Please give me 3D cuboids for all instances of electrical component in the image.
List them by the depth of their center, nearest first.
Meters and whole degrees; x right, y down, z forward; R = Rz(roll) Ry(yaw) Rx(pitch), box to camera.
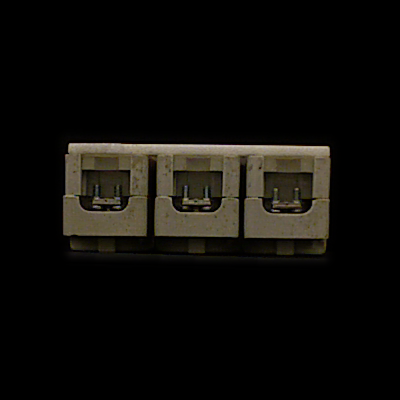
[{"bbox_3d":[0.000,0.000,0.654,0.150,0.062,0.089,1,-1,2],"label":"electrical component"}]
